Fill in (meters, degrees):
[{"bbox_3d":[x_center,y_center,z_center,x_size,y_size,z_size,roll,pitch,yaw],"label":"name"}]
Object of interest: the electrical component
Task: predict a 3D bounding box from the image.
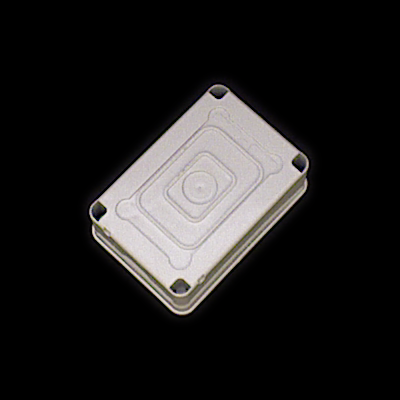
[{"bbox_3d":[0.000,0.000,0.628,0.078,0.113,0.057,42,-13,11],"label":"electrical component"}]
